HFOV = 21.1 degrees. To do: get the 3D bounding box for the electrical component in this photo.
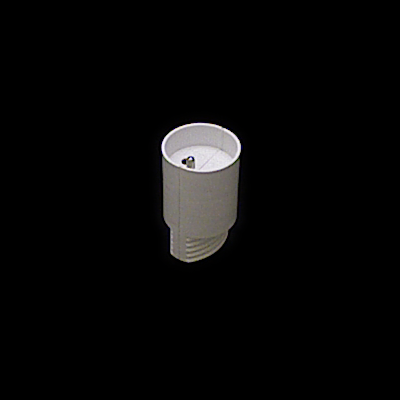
[{"bbox_3d":[0.000,0.000,0.621,0.043,0.082,0.042,0,42,0],"label":"electrical component"}]
